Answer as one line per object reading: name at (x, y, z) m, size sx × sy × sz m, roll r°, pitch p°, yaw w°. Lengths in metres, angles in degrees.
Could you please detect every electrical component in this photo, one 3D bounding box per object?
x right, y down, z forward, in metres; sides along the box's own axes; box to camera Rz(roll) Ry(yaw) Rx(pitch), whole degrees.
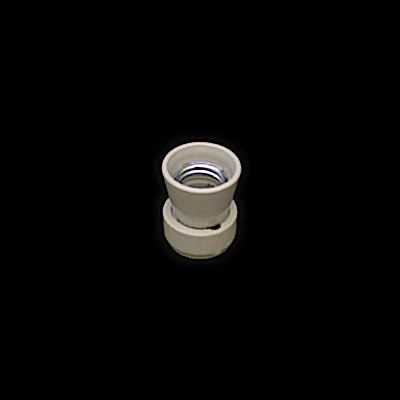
electrical component at (0.000, 0.000, 0.633) m, size 0.045 × 0.056 × 0.044 m, roll 1°, pitch 42°, yaw -1°
